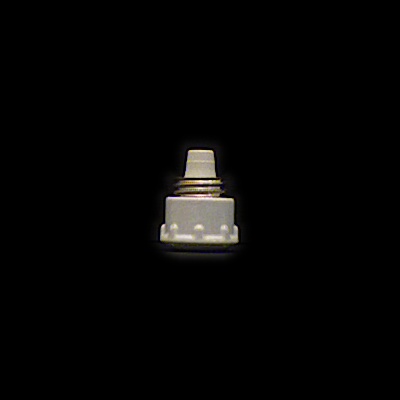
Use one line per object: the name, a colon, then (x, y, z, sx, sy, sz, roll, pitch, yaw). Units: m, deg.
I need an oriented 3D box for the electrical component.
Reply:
electrical component: (0.000, 0.000, 0.658, 0.048, 0.062, 0.048, 2, 1, 1)
